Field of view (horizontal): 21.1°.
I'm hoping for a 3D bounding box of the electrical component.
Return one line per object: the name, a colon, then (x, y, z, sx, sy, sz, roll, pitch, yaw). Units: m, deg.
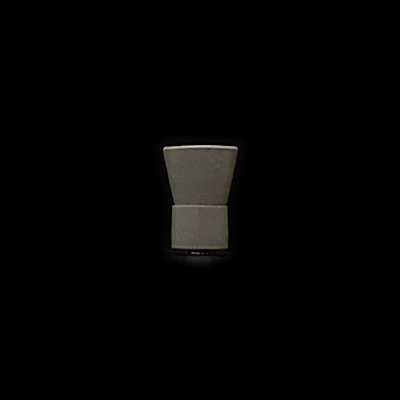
electrical component: (0.000, 0.000, 0.647, 0.044, 0.065, 0.044, 1, 2, 0)
